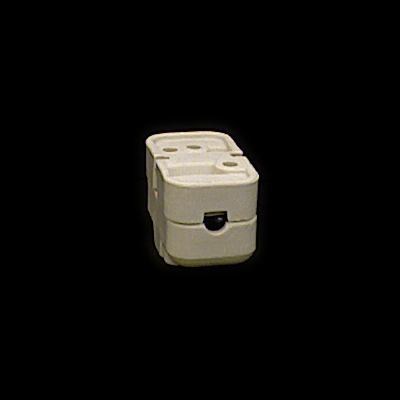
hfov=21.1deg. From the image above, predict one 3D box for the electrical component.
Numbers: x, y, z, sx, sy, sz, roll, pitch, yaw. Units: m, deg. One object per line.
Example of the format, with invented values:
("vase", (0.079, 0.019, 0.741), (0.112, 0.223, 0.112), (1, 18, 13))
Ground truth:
("electrical component", (0.000, 0.000, 0.644), (0.054, 0.060, 0.093), (-4, 23, -11))
